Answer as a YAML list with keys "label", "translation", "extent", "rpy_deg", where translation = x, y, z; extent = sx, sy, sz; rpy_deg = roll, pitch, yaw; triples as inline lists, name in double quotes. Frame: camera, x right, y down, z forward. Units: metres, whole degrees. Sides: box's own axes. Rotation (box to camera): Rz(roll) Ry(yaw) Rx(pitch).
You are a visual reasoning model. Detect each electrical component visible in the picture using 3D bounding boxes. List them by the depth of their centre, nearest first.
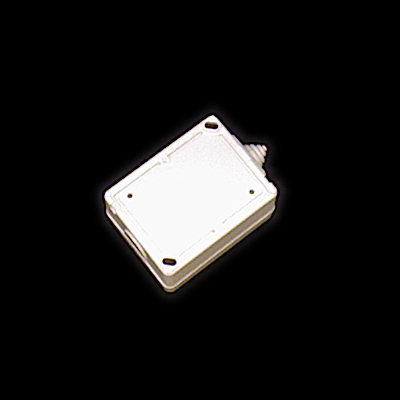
- label: "electrical component"
  translation: [0.000, 0.000, 0.628]
  extent: [0.096, 0.062, 0.060]
  rpy_deg: [-37, -13, -11]
